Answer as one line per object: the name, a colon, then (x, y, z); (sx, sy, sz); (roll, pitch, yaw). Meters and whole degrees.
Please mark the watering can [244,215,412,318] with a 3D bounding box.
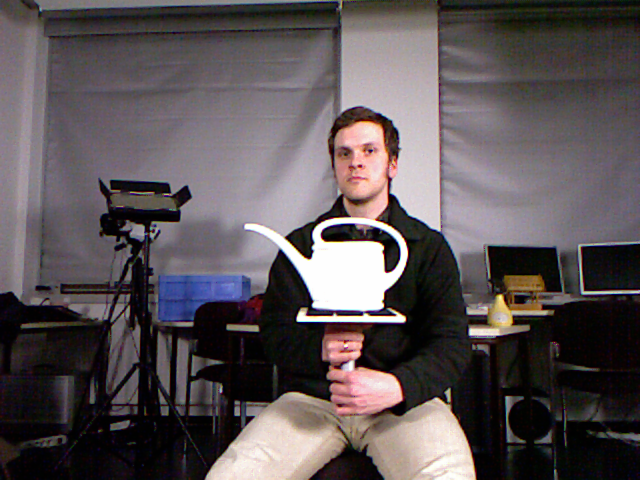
watering can: (0.016, 0.059, 1.069); (0.348, 0.224, 0.104); (0, 0, 1)
